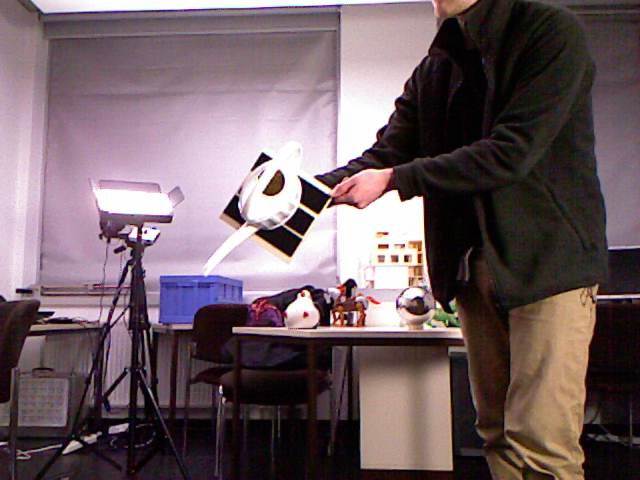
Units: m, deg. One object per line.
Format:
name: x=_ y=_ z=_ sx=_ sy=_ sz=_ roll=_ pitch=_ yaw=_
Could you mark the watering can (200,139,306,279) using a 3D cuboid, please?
watering can: x=-0.132 y=-0.066 z=1.130 sx=0.105 sy=0.348 sz=0.224 roll=34 pitch=0 yaw=11
